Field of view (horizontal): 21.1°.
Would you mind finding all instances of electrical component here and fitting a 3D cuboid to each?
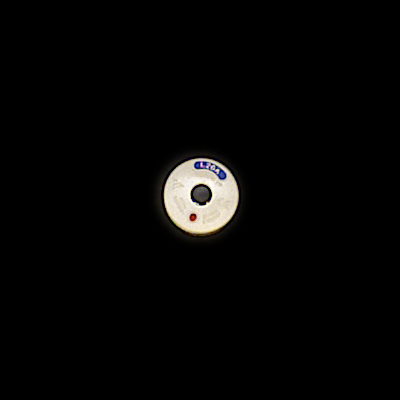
[{"bbox_3d":[0.000,0.000,0.617,0.040,0.040,0.078,0,-5,1],"label":"electrical component"}]
